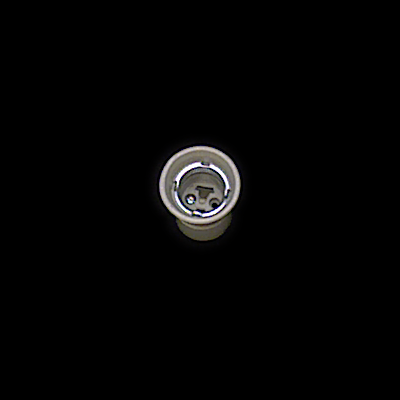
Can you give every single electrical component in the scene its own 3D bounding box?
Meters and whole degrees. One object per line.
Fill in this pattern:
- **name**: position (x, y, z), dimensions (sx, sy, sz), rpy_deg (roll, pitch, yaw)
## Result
- **electrical component**: position (0.000, 0.000, 0.624), dimensions (0.044, 0.044, 0.065), rpy_deg (0, -17, 2)
